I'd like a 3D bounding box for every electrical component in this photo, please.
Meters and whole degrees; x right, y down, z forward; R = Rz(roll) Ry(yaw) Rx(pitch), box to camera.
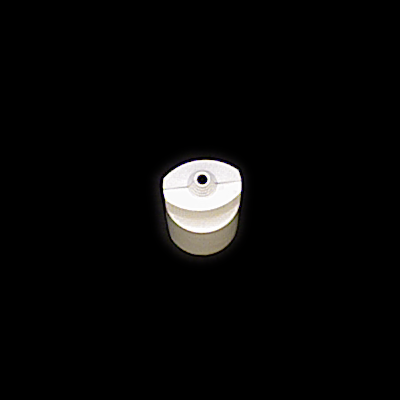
[{"bbox_3d":[0.000,0.000,0.616,0.043,0.043,0.080,0,-17,0],"label":"electrical component"}]
